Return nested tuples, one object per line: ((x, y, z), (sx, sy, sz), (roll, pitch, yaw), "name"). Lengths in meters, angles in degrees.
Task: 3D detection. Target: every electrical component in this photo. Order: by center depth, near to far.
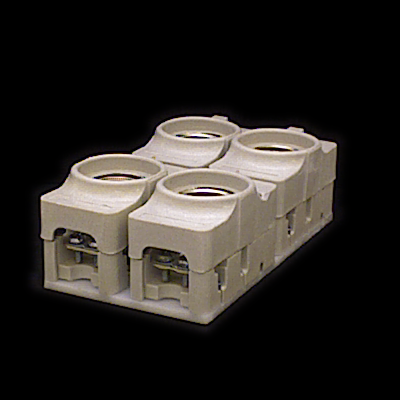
((0.000, 0.000, 0.639), (0.105, 0.061, 0.185), (11, 22, 25), "electrical component")
